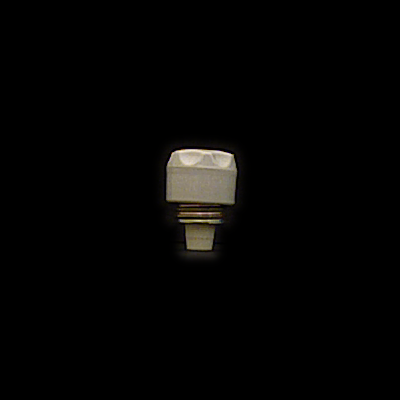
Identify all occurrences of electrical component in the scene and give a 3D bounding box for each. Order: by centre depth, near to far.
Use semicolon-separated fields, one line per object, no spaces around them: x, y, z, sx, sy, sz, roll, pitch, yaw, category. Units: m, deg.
0.000;0.000;0.657;0.043;0.062;0.043;2;2;0;electrical component
